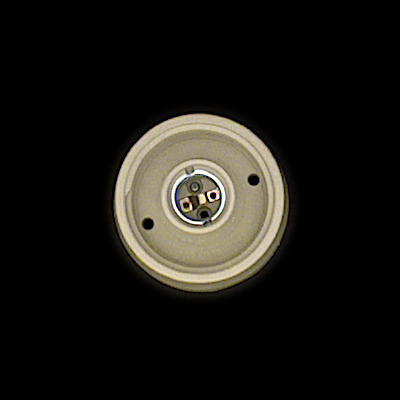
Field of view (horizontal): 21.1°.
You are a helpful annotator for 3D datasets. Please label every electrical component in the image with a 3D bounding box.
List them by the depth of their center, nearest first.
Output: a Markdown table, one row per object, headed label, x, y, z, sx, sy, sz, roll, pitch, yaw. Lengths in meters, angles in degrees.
| label | x | y | z | sx | sy | sz | roll | pitch | yaw |
| --- | --- | --- | --- | --- | --- | --- | --- | --- | --- |
| electrical component | 0.000 | 0.000 | 0.635 | 0.108 | 0.108 | 0.060 | 0 | -6 | 0 |
